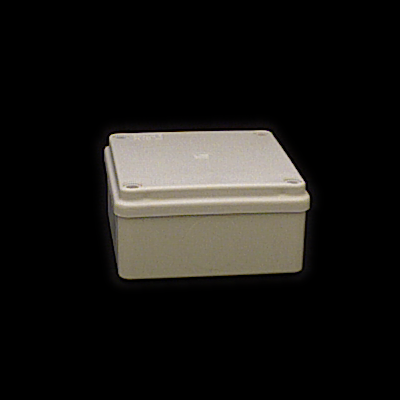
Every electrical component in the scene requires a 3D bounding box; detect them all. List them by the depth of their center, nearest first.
[{"bbox_3d":[0.000,0.000,0.638,0.109,0.057,0.107,-2,22,-8],"label":"electrical component"}]
